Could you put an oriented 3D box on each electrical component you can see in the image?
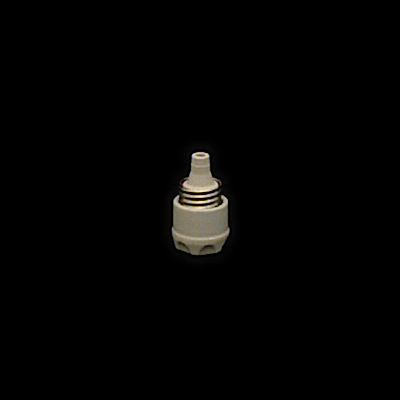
[{"bbox_3d":[0.000,0.000,0.652,0.035,0.062,0.034,0,23,0],"label":"electrical component"}]
